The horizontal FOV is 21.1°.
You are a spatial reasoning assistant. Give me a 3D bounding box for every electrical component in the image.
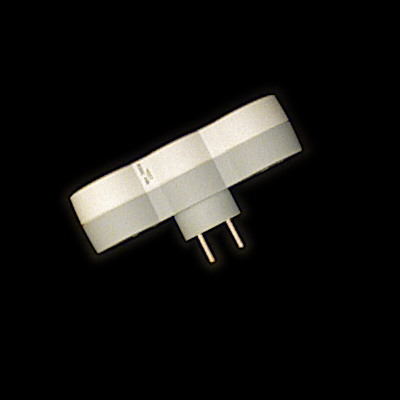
[{"bbox_3d":[0.000,0.000,0.639,0.138,0.074,0.052,-27,-3,-3],"label":"electrical component"}]
